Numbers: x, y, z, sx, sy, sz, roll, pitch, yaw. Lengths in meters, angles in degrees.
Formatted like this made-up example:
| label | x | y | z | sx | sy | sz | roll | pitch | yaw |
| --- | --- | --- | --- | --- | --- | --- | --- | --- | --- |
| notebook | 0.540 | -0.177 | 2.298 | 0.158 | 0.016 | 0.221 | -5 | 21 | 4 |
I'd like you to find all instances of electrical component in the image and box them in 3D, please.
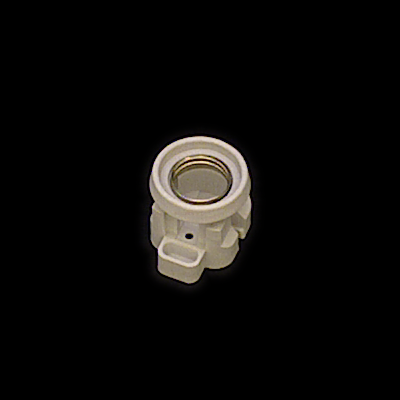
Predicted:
| label | x | y | z | sx | sy | sz | roll | pitch | yaw |
| --- | --- | --- | --- | --- | --- | --- | --- | --- | --- |
| electrical component | 0.000 | 0.000 | 0.630 | 0.057 | 0.078 | 0.057 | 19 | -35 | 13 |
